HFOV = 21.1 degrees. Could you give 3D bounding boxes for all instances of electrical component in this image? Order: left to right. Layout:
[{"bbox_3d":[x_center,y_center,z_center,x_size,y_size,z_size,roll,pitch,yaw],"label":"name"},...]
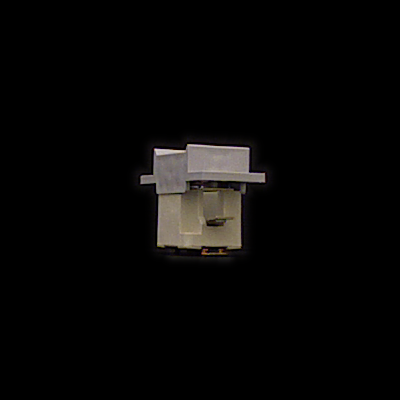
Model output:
[{"bbox_3d":[0.000,0.000,0.647,0.042,0.063,0.081,2,-1,-28],"label":"electrical component"}]
